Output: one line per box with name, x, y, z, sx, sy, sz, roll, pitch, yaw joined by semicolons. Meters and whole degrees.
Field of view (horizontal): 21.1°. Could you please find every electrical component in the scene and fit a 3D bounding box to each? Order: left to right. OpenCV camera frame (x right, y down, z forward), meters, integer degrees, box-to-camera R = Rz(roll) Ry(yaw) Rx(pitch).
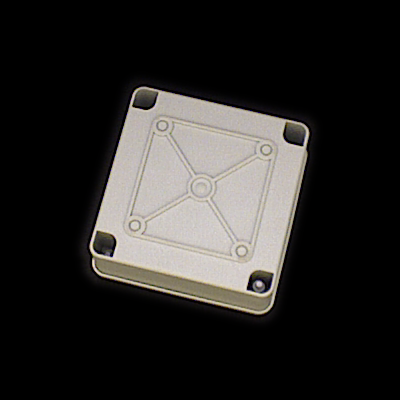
electrical component;0.000;0.000;0.627;0.109;0.109;0.056;13;-16;4
